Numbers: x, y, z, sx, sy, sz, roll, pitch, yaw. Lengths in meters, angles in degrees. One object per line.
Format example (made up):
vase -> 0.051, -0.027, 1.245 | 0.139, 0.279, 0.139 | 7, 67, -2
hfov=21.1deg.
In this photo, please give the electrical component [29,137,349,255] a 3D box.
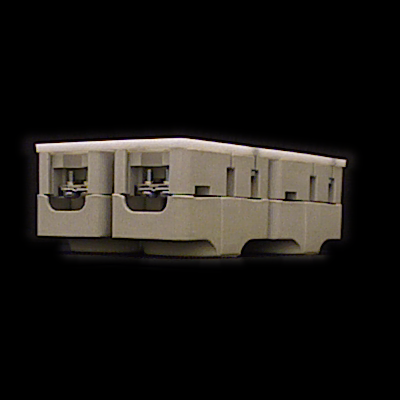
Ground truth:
electrical component -> 0.000, 0.000, 0.650 | 0.105, 0.060, 0.187 | 1, -1, 35
